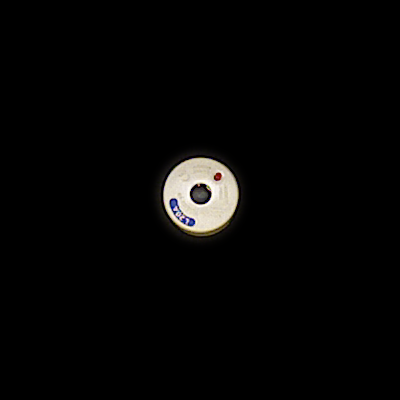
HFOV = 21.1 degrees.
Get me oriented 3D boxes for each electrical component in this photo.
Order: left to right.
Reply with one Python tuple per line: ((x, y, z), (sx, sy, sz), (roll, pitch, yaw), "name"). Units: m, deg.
((0.000, 0.000, 0.618), (0.040, 0.040, 0.078), (0, -7, 0), "electrical component")
